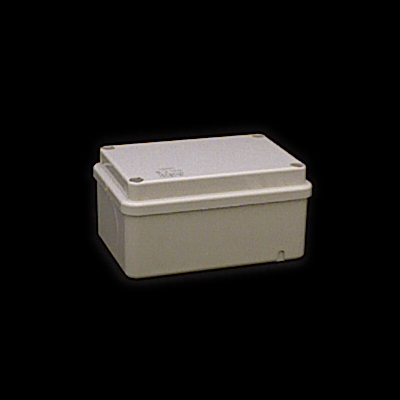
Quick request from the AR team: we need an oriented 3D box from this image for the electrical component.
[{"bbox_3d":[0.000,0.000,0.637,0.113,0.058,0.077,-6,22,-18],"label":"electrical component"}]
